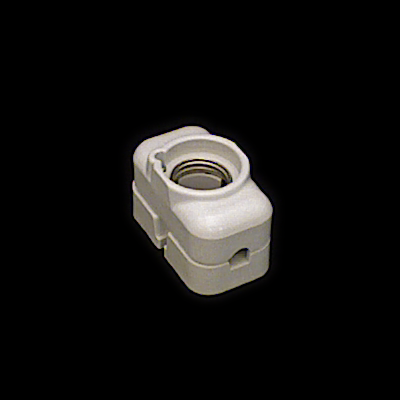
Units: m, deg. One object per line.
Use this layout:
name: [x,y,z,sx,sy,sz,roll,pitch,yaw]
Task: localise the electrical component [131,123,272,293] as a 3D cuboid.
electrical component: [0.000,0.000,0.637,0.054,0.060,0.094,-21,47,-22]
